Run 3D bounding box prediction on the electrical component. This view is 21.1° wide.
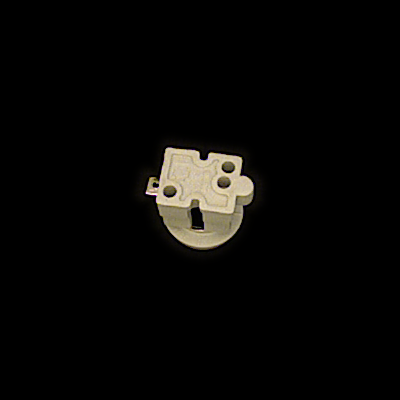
[{"bbox_3d":[0.000,0.000,0.638,0.066,0.048,0.055,8,-25,5],"label":"electrical component"}]
